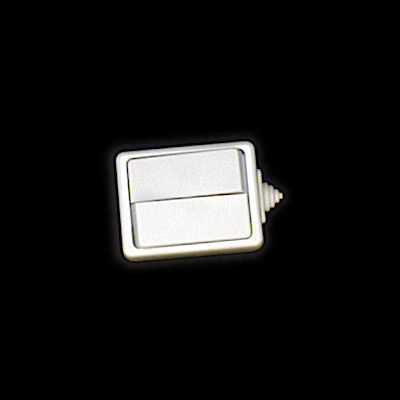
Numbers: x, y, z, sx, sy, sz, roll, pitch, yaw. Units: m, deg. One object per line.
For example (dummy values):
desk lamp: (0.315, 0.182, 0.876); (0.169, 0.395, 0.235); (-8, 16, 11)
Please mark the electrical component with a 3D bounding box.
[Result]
electrical component: (0.000, 0.000, 0.627); (0.096, 0.062, 0.061); (-5, -7, 0)
